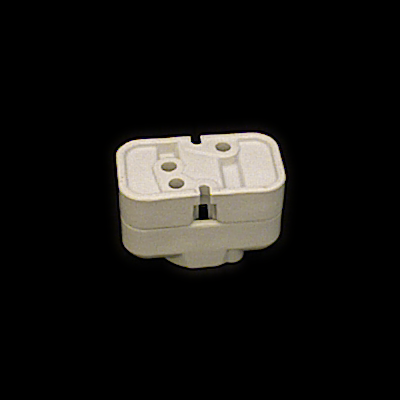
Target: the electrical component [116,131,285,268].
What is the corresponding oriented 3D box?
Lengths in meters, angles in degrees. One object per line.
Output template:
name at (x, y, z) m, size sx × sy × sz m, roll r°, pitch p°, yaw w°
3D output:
electrical component at (0.000, 0.000, 0.637) m, size 0.095 × 0.060 × 0.053 m, roll -4°, pitch 43°, yaw -6°
